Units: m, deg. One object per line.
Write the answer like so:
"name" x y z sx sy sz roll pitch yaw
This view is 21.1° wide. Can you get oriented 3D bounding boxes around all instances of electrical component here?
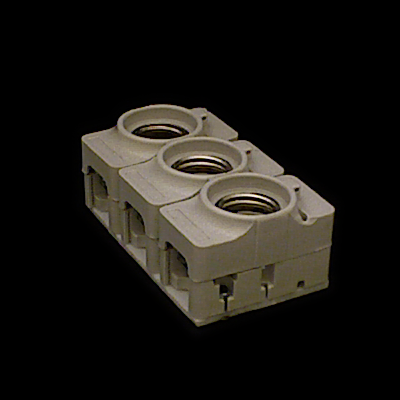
"electrical component" 0.000 0.000 0.641 0.089 0.063 0.147 -16 35 -26
